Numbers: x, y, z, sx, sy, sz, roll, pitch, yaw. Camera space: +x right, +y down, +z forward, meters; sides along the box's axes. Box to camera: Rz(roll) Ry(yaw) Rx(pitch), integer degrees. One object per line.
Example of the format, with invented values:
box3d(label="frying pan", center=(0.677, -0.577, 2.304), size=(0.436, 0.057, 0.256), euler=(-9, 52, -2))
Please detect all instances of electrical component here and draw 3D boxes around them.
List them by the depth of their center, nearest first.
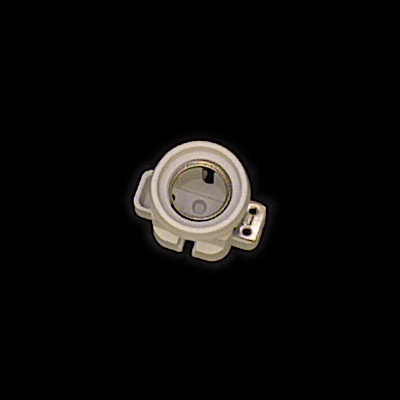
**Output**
box3d(label="electrical component", center=(0.000, 0.000, 0.629), size=(0.078, 0.058, 0.056), euler=(17, -16, 5))
